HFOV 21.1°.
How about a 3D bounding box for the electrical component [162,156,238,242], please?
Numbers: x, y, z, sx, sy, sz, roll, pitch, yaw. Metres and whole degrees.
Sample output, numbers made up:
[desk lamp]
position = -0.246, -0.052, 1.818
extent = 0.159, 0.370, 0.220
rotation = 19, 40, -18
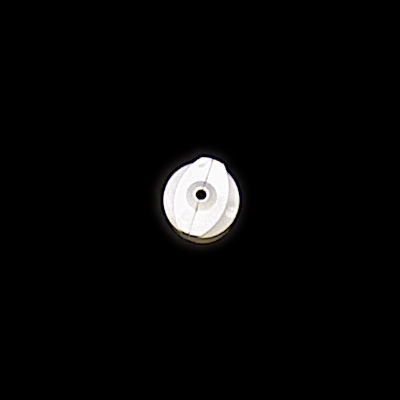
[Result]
[electrical component]
position = 0.000, 0.000, 0.616
extent = 0.043, 0.043, 0.080
rotation = 0, -6, 1
